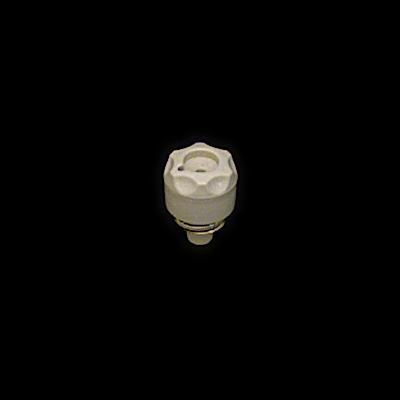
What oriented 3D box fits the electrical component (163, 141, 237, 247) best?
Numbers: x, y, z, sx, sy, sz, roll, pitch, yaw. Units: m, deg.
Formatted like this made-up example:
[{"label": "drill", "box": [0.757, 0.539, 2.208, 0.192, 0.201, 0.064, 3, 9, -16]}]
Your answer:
[{"label": "electrical component", "box": [0.000, 0.000, 0.639, 0.043, 0.062, 0.043, 1, 42, 0]}]
